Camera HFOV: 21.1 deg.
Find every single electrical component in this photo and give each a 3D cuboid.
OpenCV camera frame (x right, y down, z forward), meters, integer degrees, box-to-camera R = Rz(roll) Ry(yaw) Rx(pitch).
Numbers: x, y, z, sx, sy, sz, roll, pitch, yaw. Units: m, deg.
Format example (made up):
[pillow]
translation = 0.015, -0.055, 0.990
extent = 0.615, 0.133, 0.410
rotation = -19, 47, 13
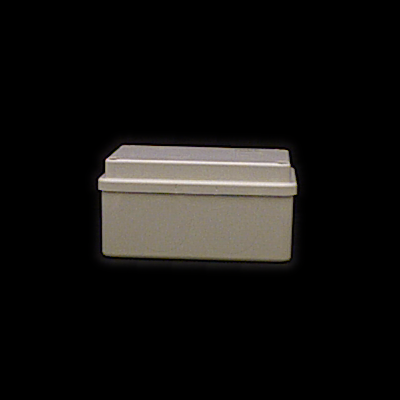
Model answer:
[electrical component]
translation = 0.000, 0.000, 0.646
extent = 0.113, 0.057, 0.077
rotation = 2, 11, 3
